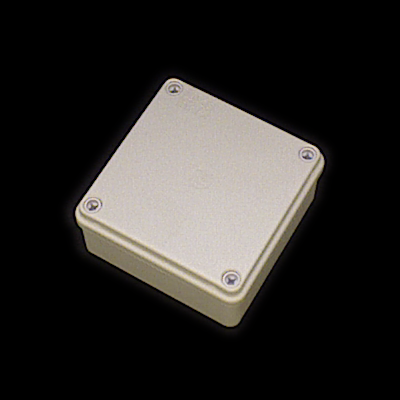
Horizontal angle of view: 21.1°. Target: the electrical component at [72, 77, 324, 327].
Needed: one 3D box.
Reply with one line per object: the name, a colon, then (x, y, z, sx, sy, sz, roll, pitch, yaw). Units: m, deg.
electrical component: (0.000, 0.000, 0.628, 0.108, 0.109, 0.056, 27, -24, 13)
